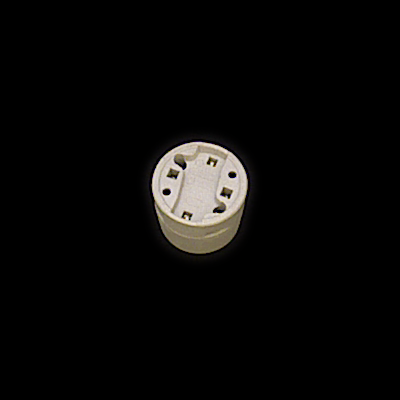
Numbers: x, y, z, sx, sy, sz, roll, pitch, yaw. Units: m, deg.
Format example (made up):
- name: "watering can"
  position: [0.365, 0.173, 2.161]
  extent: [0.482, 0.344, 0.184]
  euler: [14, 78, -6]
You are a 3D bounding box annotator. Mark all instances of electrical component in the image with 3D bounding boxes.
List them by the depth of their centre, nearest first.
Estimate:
- name: "electrical component"
  position: [0.000, 0.000, 0.634]
  extent: [0.055, 0.056, 0.047]
  euler: [0, -27, 0]
